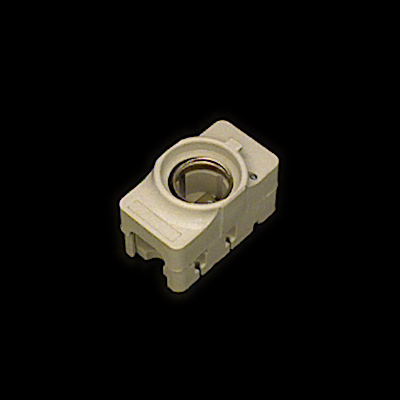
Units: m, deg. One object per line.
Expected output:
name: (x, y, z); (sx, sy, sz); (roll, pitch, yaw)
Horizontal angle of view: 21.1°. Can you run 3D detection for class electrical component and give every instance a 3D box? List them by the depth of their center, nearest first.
electrical component: (0.000, 0.000, 0.637); (0.050, 0.056, 0.090); (36, 61, 24)
